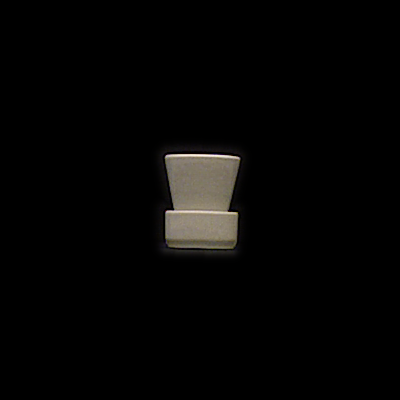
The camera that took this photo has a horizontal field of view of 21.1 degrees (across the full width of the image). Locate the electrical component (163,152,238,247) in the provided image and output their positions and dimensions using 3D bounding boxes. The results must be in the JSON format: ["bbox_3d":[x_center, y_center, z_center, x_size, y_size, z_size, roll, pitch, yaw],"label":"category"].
[{"bbox_3d":[0.000,0.000,0.651,0.045,0.055,0.045,2,1,0],"label":"electrical component"}]
